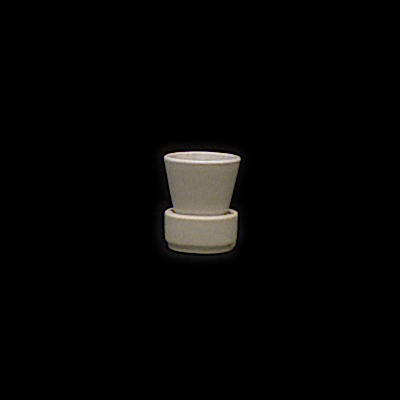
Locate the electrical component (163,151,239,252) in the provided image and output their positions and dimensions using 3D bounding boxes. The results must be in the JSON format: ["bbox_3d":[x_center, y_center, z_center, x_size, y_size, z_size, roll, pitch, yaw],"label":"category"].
[{"bbox_3d":[0.000,0.000,0.646,0.045,0.055,0.044,2,11,0],"label":"electrical component"}]
